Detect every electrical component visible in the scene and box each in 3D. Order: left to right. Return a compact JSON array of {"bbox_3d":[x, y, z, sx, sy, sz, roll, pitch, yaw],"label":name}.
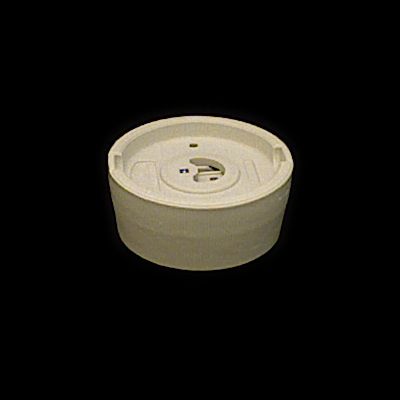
[{"bbox_3d":[0.000,0.000,0.639,0.108,0.061,0.106,2,32,0],"label":"electrical component"}]
